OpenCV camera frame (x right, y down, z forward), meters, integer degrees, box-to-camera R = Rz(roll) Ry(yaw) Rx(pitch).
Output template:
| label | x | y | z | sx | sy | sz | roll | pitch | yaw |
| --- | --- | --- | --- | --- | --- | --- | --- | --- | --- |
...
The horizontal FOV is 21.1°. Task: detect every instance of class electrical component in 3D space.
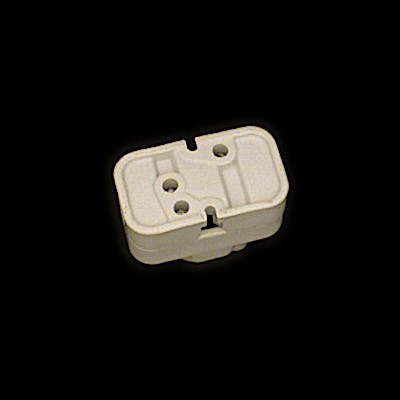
| label | x | y | z | sx | sy | sz | roll | pitch | yaw |
| --- | --- | --- | --- | --- | --- | --- | --- | --- | --- |
| electrical component | 0.000 | 0.000 | 0.634 | 0.095 | 0.053 | 0.059 | -13 | -26 | -7 |
